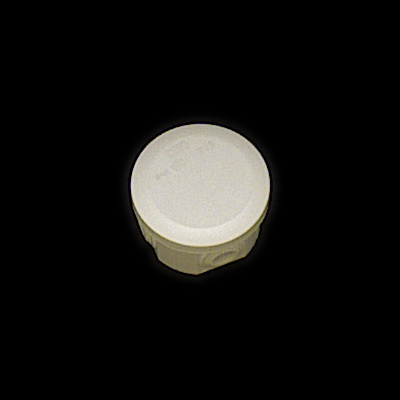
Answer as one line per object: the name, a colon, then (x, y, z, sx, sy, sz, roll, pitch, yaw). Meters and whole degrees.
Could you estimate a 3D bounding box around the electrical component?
electrical component: (0.000, 0.000, 0.631, 0.080, 0.080, 0.050, 0, -27, -1)
